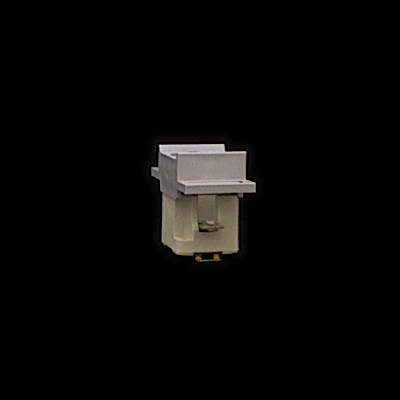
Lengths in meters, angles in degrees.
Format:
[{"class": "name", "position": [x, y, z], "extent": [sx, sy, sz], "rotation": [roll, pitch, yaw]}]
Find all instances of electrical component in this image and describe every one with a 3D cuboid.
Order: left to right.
[{"class": "electrical component", "position": [0.000, 0.000, 0.641], "extent": [0.042, 0.064, 0.080], "rotation": [-1, 10, -16]}]
